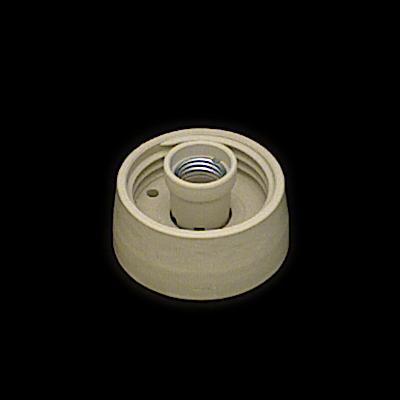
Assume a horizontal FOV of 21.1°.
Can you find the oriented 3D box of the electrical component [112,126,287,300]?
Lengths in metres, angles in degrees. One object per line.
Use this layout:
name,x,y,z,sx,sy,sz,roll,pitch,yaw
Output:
electrical component,0.000,0.000,0.639,0.108,0.061,0.106,1,42,0
